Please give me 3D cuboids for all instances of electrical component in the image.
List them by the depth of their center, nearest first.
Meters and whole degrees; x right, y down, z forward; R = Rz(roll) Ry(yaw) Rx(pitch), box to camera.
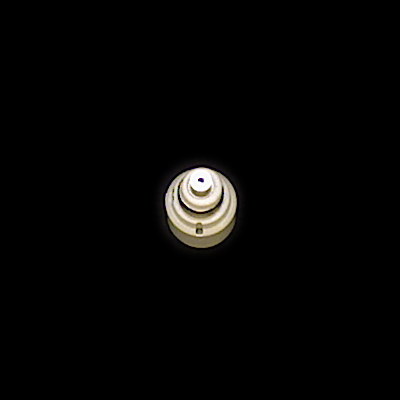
[{"bbox_3d":[0.000,0.000,0.618,0.040,0.040,0.078,0,-16,0],"label":"electrical component"}]
